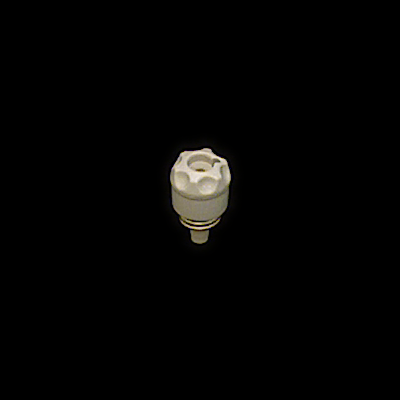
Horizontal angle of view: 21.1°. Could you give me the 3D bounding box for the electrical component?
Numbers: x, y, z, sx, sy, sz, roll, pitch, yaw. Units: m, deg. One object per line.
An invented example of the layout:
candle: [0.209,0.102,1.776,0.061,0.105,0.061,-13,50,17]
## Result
electrical component: [0.000,0.000,0.637,0.035,0.062,0.035,1,43,0]
